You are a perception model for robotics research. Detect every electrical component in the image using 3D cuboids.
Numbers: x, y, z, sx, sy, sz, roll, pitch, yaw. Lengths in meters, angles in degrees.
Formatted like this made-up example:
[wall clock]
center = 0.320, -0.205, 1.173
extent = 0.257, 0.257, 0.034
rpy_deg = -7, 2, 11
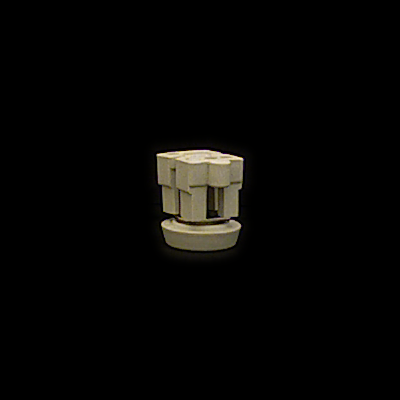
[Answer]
[electrical component]
center = 0.000, 0.000, 0.651
extent = 0.049, 0.056, 0.065
rpy_deg = -7, 13, -28
